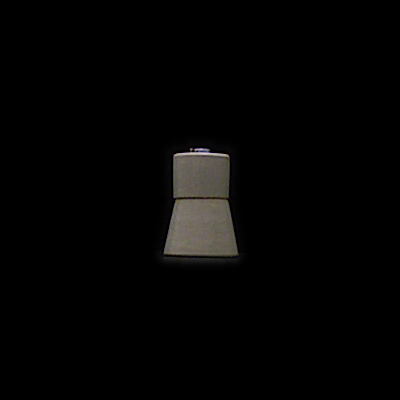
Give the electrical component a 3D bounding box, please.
[{"bbox_3d":[0.000,0.000,0.652,0.044,0.065,0.044,0,1,0],"label":"electrical component"}]
